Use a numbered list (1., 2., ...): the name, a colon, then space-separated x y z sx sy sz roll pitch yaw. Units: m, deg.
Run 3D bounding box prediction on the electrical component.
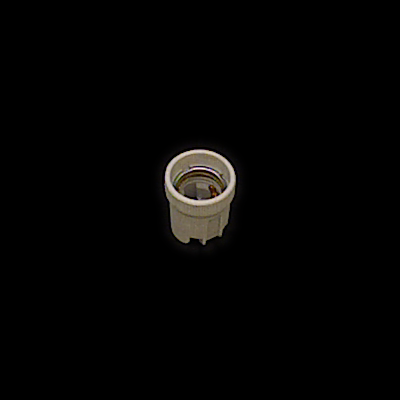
1. electrical component: 0.000 0.000 0.629 0.040 0.040 0.046 0 -38 -1
